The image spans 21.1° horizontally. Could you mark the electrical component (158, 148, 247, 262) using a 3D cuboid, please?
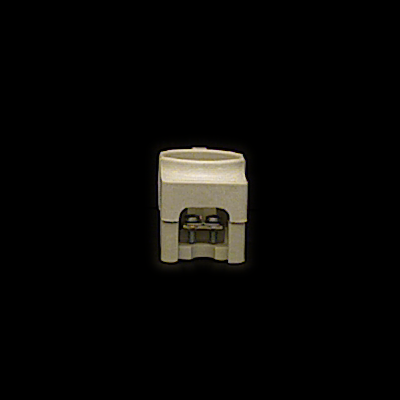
[{"bbox_3d":[0.000,0.000,0.652,0.050,0.056,0.088,0,11,-4],"label":"electrical component"}]
